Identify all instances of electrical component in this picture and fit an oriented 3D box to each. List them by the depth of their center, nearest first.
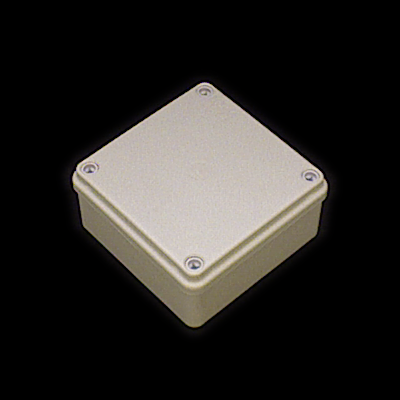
[{"bbox_3d":[0.000,0.000,0.629,0.109,0.056,0.108,-36,61,-24],"label":"electrical component"}]
